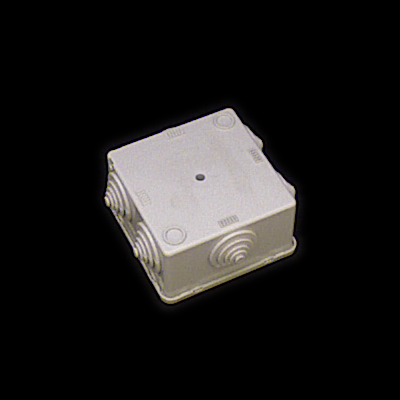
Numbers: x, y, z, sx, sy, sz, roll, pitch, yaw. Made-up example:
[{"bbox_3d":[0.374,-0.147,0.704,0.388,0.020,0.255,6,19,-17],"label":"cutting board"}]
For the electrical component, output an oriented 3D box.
[{"bbox_3d":[0.000,0.000,0.633,0.100,0.099,0.049,-21,-34,-16],"label":"electrical component"}]
